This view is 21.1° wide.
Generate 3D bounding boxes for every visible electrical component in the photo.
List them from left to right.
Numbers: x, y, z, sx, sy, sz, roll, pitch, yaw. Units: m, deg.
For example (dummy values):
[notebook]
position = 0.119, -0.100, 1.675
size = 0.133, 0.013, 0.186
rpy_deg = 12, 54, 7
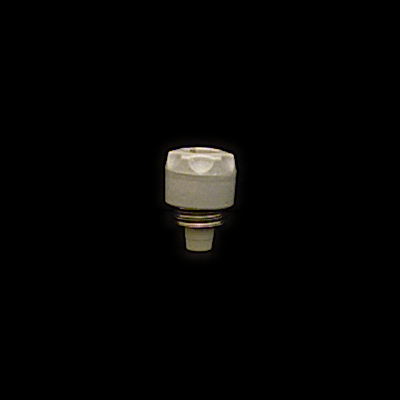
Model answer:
[electrical component]
position = 0.000, 0.000, 0.650
size = 0.043, 0.062, 0.043
rpy_deg = 2, 13, 0
